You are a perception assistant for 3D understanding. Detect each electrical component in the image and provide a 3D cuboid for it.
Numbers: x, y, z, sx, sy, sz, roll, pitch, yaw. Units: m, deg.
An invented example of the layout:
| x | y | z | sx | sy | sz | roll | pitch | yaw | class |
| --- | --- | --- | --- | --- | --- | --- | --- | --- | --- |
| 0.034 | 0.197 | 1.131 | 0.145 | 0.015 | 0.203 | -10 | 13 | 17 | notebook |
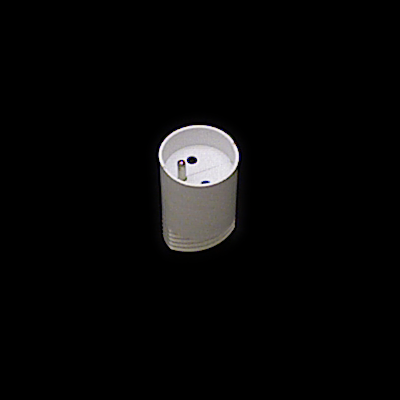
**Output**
| x | y | z | sx | sy | sz | roll | pitch | yaw | class |
| --- | --- | --- | --- | --- | --- | --- | --- | --- | --- |
| 0.000 | 0.000 | 0.617 | 0.043 | 0.043 | 0.081 | 0 | -38 | 1 | electrical component |
